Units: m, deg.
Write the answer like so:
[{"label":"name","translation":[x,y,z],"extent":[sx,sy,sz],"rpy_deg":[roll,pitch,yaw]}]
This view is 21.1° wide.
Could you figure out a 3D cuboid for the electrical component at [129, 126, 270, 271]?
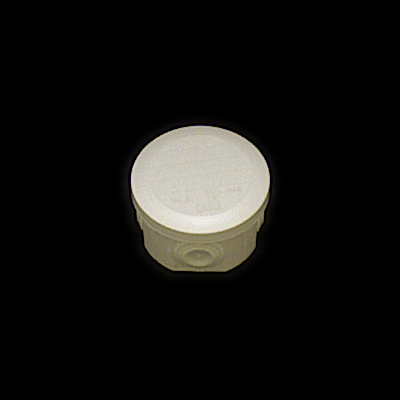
[{"label":"electrical component","translation":[0.000,0.000,0.630],"extent":[0.080,0.080,0.051],"rpy_deg":[0,-38,0]}]
